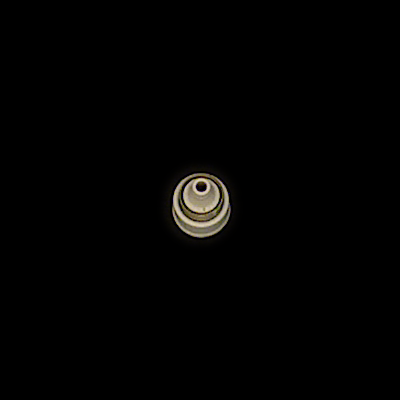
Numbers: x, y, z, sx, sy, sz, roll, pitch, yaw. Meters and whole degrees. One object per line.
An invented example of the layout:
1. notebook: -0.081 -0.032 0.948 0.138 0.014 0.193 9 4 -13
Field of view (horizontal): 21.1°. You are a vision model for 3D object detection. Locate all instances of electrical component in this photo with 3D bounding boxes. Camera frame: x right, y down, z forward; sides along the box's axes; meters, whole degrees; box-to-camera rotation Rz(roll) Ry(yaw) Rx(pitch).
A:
1. electrical component: 0.000 0.000 0.637 0.035 0.035 0.061 0 -15 0
